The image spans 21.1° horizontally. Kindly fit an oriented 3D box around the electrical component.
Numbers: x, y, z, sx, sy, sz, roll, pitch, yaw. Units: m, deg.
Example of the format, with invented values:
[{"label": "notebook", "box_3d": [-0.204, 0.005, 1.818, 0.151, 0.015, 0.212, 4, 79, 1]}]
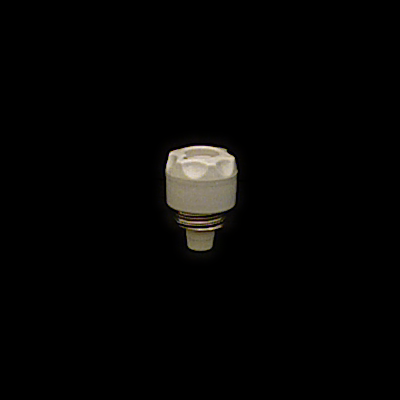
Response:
[{"label": "electrical component", "box_3d": [0.000, 0.000, 0.647, 0.043, 0.063, 0.043, 1, 21, 0]}]
